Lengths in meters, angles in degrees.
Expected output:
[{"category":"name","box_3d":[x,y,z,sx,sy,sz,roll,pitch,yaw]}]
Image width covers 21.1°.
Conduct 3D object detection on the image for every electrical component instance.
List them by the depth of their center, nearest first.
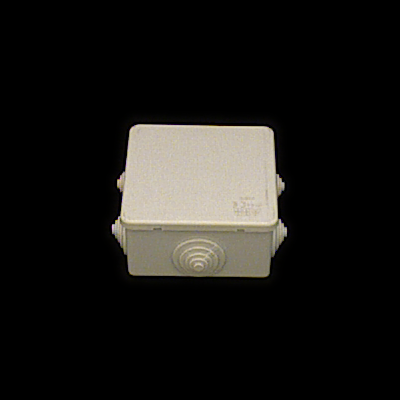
[{"category":"electrical component","box_3d":[0.000,0.000,0.642,0.100,0.049,0.099,1,43,0]}]
